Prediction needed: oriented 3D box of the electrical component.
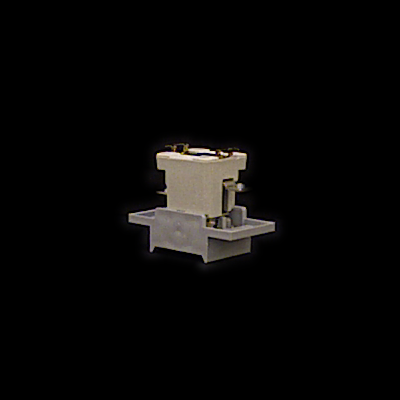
[{"bbox_3d":[0.000,0.000,0.644,0.080,0.064,0.042,10,14,38],"label":"electrical component"}]
